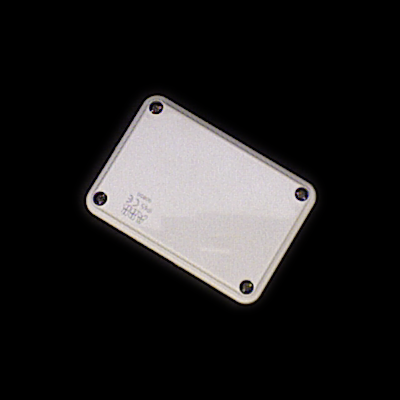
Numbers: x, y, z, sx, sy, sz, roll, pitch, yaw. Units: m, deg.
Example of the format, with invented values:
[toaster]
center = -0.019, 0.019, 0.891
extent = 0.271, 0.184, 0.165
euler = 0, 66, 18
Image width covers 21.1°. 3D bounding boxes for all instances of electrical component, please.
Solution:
[electrical component]
center = 0.000, 0.000, 0.628
extent = 0.113, 0.078, 0.057
euler = 31, -6, 3
